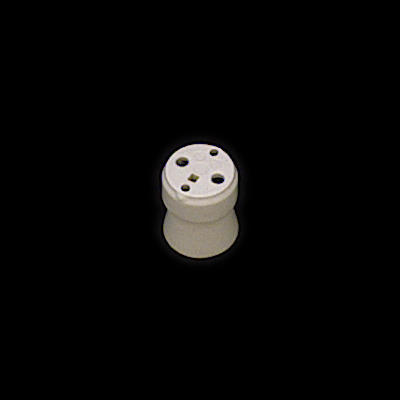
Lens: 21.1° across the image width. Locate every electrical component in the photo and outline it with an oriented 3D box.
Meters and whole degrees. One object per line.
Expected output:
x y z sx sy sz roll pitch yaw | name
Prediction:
0.000 0.000 0.630 0.045 0.044 0.055 0 -38 0 | electrical component
